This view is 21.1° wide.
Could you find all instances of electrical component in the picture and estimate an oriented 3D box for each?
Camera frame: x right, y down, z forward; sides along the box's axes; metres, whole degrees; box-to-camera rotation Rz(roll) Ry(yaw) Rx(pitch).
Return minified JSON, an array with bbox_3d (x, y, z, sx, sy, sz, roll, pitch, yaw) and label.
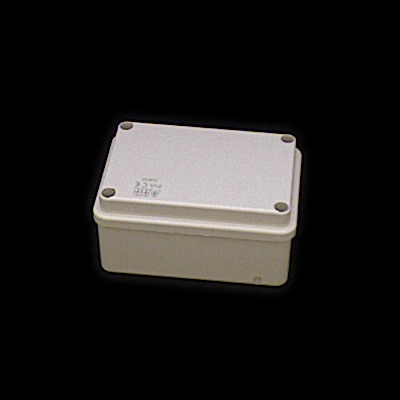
[{"bbox_3d":[0.000,0.000,0.629,0.113,0.057,0.077,5,42,4],"label":"electrical component"}]
